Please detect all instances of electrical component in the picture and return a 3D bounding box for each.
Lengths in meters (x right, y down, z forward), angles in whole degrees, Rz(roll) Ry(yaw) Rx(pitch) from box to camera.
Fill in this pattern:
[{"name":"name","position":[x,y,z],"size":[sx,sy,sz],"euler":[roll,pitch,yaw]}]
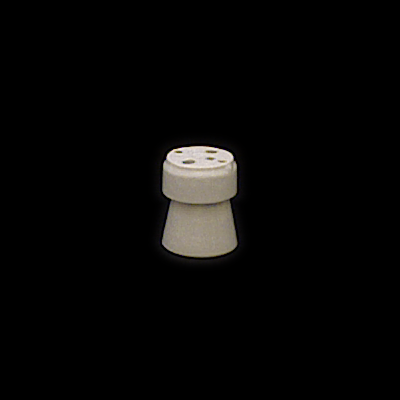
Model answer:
[{"name":"electrical component","position":[0.000,0.000,0.638],"size":[0.045,0.056,0.044],"euler":[0,21,0]}]
